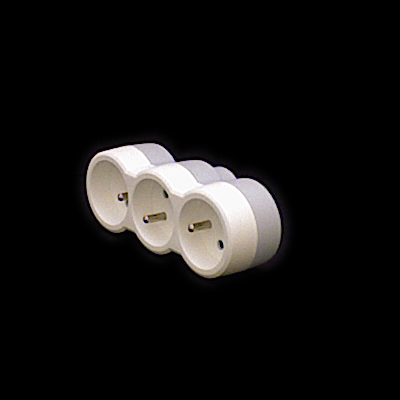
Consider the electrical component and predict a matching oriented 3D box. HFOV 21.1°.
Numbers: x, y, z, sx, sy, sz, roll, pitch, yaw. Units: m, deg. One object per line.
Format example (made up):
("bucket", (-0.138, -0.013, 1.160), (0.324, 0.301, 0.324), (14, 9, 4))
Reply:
("electrical component", (0.000, 0.000, 0.642), (0.074, 0.053, 0.136), (-14, 25, -39))
